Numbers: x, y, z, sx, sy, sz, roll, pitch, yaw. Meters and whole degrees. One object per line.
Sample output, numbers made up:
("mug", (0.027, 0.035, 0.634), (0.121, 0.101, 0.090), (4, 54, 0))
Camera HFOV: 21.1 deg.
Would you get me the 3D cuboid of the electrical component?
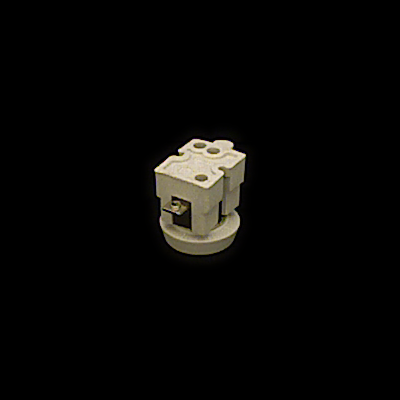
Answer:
("electrical component", (0.000, 0.000, 0.644), (0.048, 0.056, 0.066), (20, 38, 26))
